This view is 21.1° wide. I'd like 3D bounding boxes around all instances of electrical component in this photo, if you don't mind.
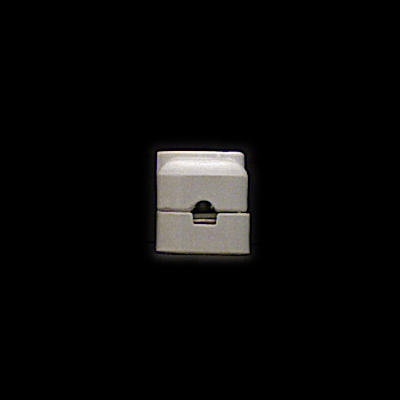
[{"bbox_3d":[0.000,0.000,0.657,0.054,0.059,0.095,1,1,-4],"label":"electrical component"}]
